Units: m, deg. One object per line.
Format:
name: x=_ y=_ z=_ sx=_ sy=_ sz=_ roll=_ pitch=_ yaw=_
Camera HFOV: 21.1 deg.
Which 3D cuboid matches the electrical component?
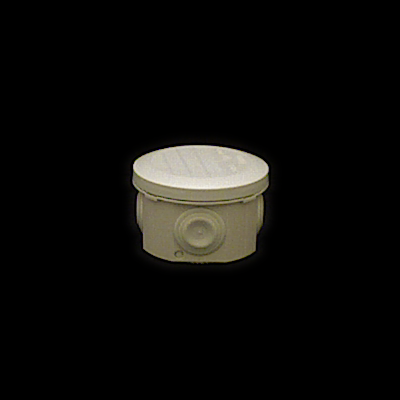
electrical component: x=0.000 y=0.000 z=0.638 sx=0.080 sy=0.051 sz=0.079 roll=1 pitch=21 yaw=0
